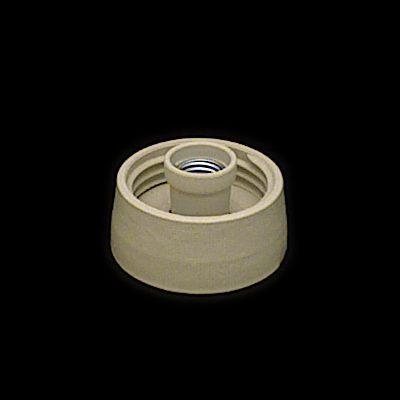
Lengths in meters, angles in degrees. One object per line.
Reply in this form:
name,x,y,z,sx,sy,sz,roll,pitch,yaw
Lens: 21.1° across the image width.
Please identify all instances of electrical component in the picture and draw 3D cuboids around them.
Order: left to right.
electrical component,0.000,0.000,0.642,0.108,0.061,0.106,1,32,0
